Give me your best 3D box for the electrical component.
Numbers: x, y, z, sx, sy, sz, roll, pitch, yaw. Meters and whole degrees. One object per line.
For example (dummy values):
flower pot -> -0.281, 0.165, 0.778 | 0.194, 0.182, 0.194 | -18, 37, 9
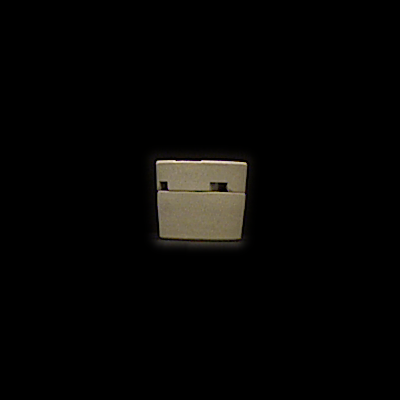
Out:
electrical component -> 0.000, 0.000, 0.649 | 0.055, 0.047, 0.055 | 1, 0, 0
